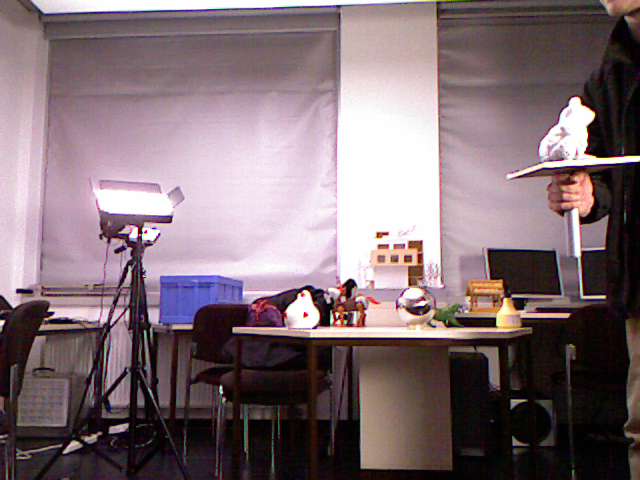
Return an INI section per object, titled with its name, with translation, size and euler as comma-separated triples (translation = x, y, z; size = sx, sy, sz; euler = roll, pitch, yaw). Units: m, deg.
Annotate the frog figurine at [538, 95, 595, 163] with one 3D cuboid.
[frog figurine]
translation = 0.569, -0.255, 1.189
size = 0.122, 0.159, 0.138
euler = -2, 5, 21
